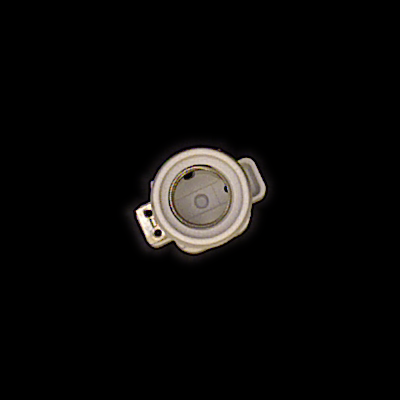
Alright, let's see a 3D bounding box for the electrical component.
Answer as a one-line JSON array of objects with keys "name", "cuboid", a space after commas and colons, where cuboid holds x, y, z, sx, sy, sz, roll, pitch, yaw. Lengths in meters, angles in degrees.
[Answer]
[{"name": "electrical component", "cuboid": [0.000, 0.000, 0.629, 0.078, 0.058, 0.056, -25, -6, -2]}]
